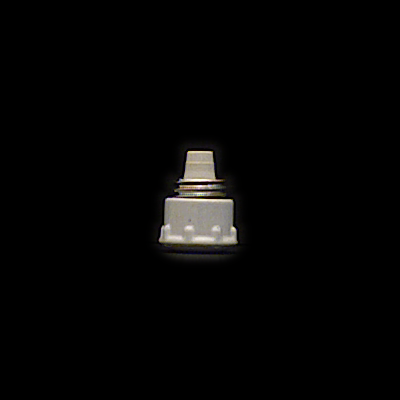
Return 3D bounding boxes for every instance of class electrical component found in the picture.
[{"bbox_3d":[0.000,0.000,0.655,0.048,0.062,0.048,1,3,0],"label":"electrical component"}]
